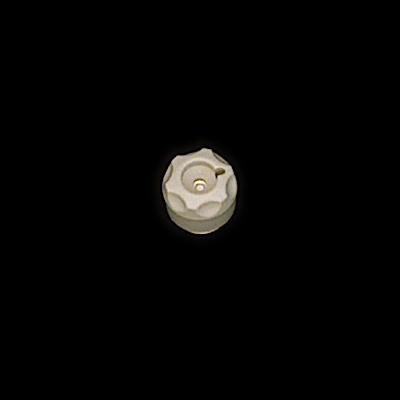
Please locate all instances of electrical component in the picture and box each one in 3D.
[{"bbox_3d":[0.000,0.000,0.634,0.043,0.043,0.062,0,-26,1],"label":"electrical component"}]
